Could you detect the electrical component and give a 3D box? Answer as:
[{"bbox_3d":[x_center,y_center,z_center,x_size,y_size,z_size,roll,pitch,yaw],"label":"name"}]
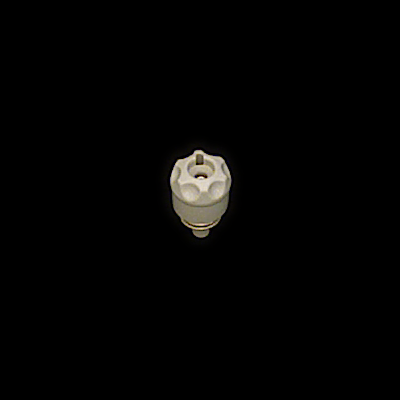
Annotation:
[{"bbox_3d":[0.000,0.000,0.636,0.035,0.035,0.062,0,-37,0],"label":"electrical component"}]
